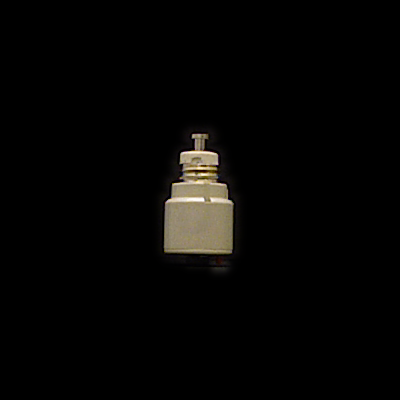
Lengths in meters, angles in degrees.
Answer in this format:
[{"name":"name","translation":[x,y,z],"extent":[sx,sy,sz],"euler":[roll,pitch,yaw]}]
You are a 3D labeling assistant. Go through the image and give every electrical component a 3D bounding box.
[{"name":"electrical component","translation":[0.000,0.000,0.648],"extent":[0.040,0.078,0.040],"euler":[0,0,0]}]
